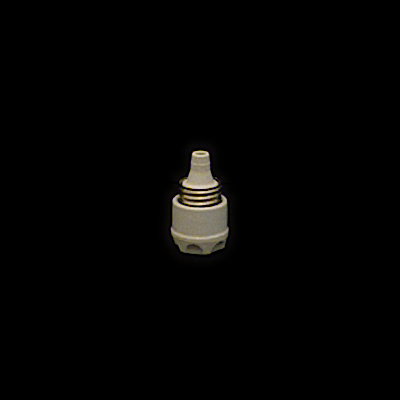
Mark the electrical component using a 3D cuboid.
[{"bbox_3d":[0.000,0.000,0.650,0.035,0.062,0.035,1,21,0],"label":"electrical component"}]
